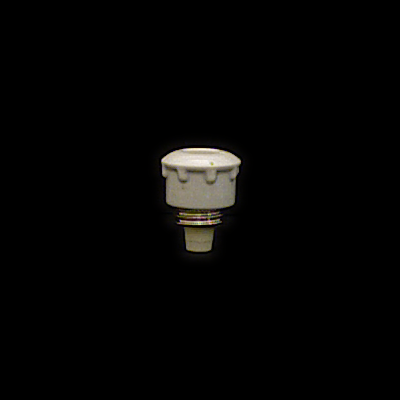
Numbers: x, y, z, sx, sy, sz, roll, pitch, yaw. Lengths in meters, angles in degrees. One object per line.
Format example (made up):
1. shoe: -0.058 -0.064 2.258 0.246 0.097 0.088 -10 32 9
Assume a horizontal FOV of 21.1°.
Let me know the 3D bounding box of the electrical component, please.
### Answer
1. electrical component: 0.000 0.000 0.653 0.048 0.062 0.048 1 11 0
